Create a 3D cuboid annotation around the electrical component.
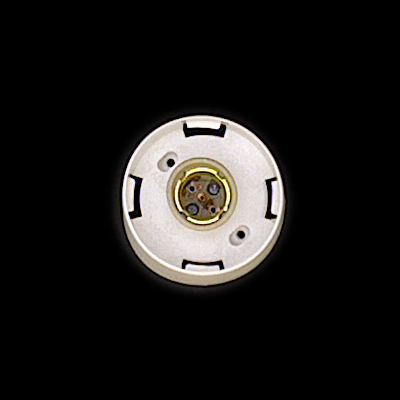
[{"bbox_3d":[0.000,0.000,0.626,0.099,0.099,0.064,0,-6,1],"label":"electrical component"}]
